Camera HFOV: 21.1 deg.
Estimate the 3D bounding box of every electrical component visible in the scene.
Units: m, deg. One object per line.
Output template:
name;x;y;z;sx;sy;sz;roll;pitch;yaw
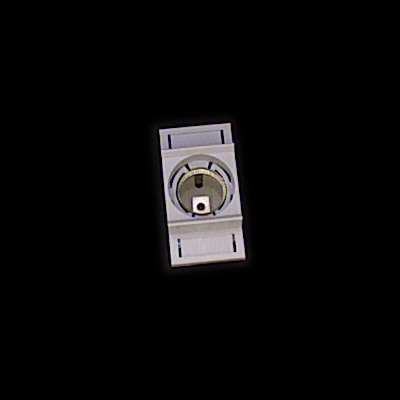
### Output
electrical component;0.000;0.000;0.623;0.042;0.081;0.063;-5;-17;-2
